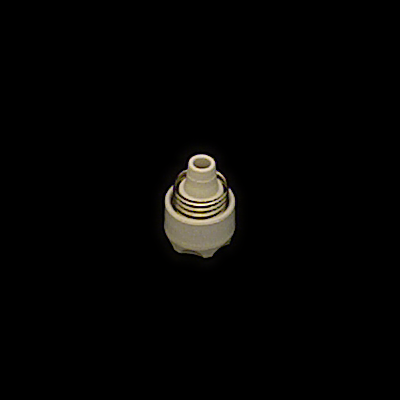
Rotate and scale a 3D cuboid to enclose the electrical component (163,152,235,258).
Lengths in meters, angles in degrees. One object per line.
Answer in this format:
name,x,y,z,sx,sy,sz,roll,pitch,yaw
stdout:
electrical component,0.000,0.000,0.637,0.043,0.062,0.043,1,43,-1
